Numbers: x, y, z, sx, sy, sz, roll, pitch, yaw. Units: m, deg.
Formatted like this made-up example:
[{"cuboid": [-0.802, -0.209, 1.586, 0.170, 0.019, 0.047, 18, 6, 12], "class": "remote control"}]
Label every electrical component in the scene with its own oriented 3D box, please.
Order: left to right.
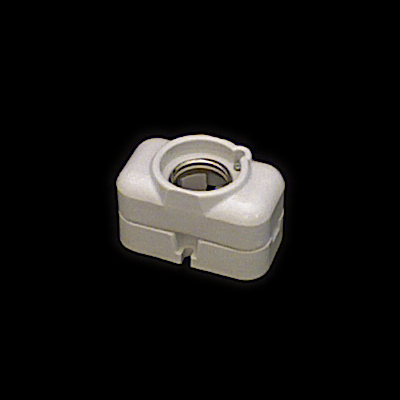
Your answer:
[{"cuboid": [0.000, 0.000, 0.639, 0.095, 0.060, 0.053, 14, 45, 14], "class": "electrical component"}]
